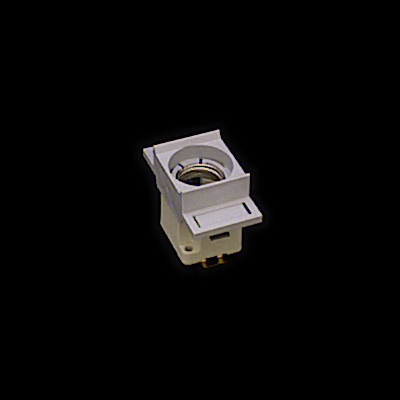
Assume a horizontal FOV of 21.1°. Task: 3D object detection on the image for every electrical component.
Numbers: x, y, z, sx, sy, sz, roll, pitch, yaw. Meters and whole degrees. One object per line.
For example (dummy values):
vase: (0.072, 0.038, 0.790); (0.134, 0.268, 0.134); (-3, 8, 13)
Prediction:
electrical component: (0.000, 0.000, 0.631); (0.042, 0.064, 0.080); (-16, 45, -16)
